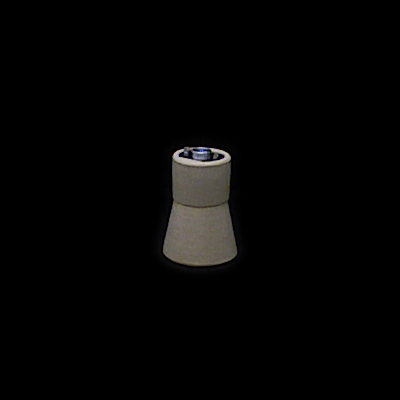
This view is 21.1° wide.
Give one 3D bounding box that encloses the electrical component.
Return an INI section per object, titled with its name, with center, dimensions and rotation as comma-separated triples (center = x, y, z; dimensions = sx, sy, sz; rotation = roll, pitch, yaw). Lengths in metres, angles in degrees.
[electrical component]
center = 0.000, 0.000, 0.639
dimensions = 0.044, 0.066, 0.044
rotation = 1, 20, 0
